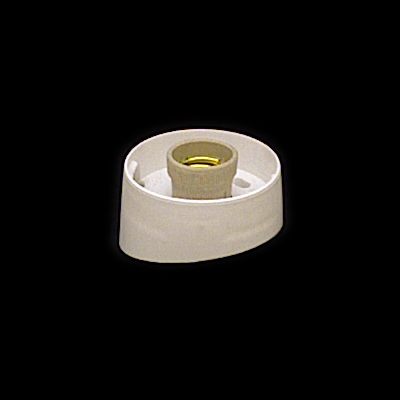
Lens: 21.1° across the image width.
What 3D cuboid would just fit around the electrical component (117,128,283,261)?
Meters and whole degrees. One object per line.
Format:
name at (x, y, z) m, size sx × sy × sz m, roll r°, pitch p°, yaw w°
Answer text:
electrical component at (0.000, 0.000, 0.633) m, size 0.099 × 0.065 × 0.097 m, roll 0°, pitch 31°, yaw 0°
